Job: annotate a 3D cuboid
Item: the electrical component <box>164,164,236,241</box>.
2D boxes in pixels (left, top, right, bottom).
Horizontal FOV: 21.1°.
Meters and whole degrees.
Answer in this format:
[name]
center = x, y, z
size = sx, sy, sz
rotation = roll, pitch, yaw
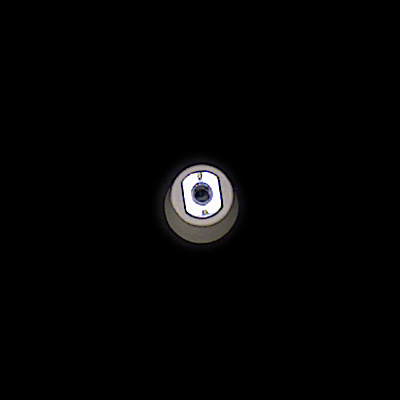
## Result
[electrical component]
center = 0.000, 0.000, 0.626
size = 0.044, 0.044, 0.065
rotation = 0, -7, 0
